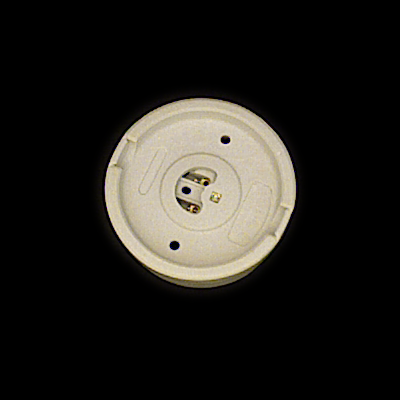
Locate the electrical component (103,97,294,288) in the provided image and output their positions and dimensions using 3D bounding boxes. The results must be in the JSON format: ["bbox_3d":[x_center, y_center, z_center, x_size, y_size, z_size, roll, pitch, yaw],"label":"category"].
[{"bbox_3d":[0.000,0.000,0.634,0.108,0.108,0.060,0,-16,1],"label":"electrical component"}]
